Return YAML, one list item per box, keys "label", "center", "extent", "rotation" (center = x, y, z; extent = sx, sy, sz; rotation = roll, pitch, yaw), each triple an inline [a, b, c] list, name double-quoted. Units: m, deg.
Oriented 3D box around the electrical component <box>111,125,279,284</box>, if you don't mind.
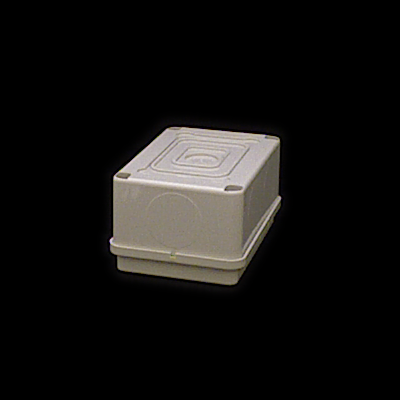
- label: "electrical component"
  center: [0.000, 0.000, 0.639]
  extent: [0.078, 0.058, 0.112]
  rotation: [7, 22, 14]
